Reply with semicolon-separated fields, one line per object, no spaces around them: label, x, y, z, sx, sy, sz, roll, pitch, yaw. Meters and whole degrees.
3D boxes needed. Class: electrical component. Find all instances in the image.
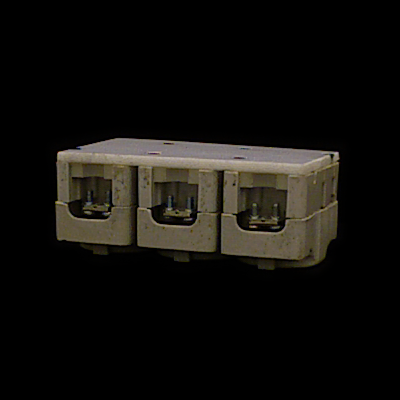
electrical component;0.000;0.000;0.649;0.149;0.062;0.089;4;10;19
